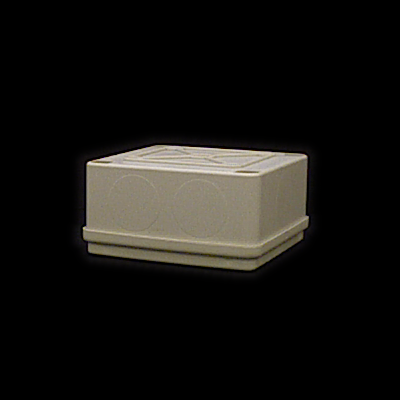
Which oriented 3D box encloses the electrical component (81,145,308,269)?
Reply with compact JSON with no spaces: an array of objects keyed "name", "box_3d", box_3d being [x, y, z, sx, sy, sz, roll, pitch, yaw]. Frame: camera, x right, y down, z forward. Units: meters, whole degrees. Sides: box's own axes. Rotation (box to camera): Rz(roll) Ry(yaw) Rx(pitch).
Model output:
[{"name":"electrical component","box_3d":[0.000,0.000,0.646,0.108,0.056,0.108,5,10,21]}]
